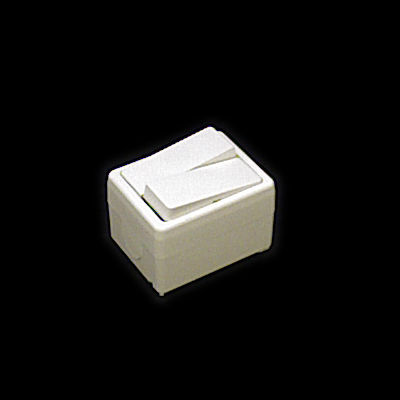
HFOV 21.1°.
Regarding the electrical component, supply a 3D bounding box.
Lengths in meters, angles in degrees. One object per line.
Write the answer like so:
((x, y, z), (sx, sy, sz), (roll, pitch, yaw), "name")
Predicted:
((0.000, 0.000, 0.632), (0.096, 0.061, 0.061), (-22, 47, -24), "electrical component")
